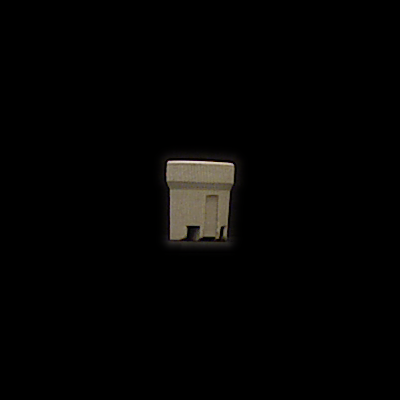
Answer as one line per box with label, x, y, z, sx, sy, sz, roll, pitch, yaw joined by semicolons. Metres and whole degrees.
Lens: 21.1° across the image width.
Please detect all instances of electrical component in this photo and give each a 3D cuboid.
electrical component;0.000;0.000;0.647;0.040;0.046;0.040;1;1;0
